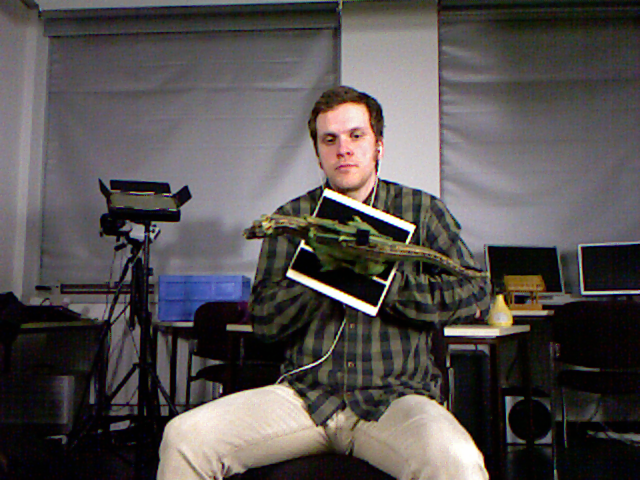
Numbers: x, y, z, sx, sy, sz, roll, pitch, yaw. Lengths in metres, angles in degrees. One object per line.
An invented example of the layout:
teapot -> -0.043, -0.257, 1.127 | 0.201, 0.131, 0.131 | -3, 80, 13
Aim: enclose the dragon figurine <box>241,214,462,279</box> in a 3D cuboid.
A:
dragon figurine -> 0.066, 0.005, 0.938 | 0.412, 0.123, 0.242 | 5, -6, 7
